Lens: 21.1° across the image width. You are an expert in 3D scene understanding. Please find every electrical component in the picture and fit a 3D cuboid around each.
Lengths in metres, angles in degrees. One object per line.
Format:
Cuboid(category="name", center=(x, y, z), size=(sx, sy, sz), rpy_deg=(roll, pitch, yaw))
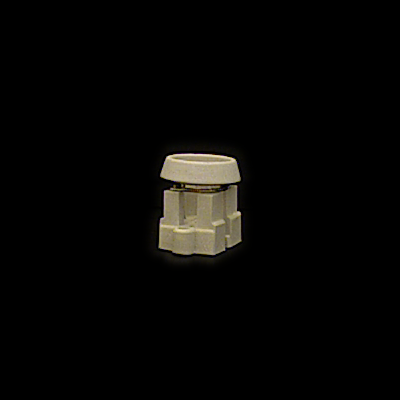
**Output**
Cuboid(category="electrical component", center=(0.000, 0.000, 0.653), size=(0.048, 0.056, 0.066), rpy_deg=(8, 13, 22))
